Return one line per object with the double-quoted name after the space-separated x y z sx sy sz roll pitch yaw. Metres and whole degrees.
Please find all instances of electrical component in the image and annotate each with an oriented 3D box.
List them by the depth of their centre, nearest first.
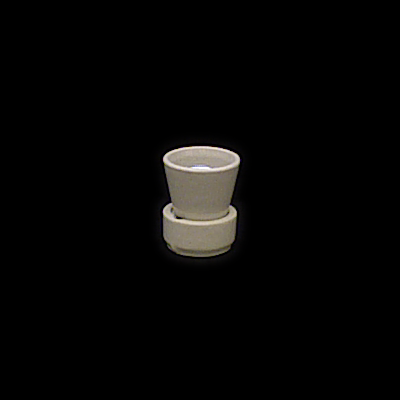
0.000 0.000 0.640 0.045 0.056 0.044 1 22 0 "electrical component"
